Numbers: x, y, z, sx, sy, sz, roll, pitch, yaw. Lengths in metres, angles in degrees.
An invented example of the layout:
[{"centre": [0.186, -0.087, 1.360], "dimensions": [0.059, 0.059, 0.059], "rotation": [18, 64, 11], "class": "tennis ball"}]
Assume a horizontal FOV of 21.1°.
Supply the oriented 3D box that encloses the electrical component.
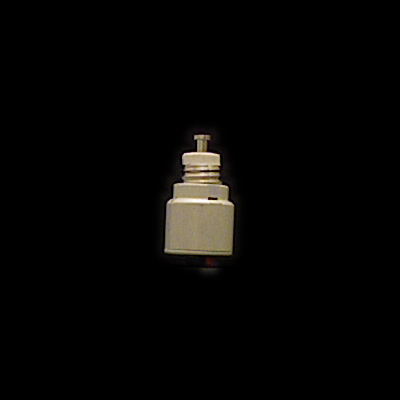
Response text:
[{"centre": [0.000, 0.000, 0.649], "dimensions": [0.040, 0.078, 0.040], "rotation": [2, 0, 0], "class": "electrical component"}]
